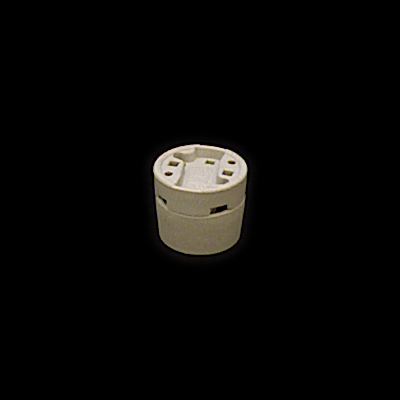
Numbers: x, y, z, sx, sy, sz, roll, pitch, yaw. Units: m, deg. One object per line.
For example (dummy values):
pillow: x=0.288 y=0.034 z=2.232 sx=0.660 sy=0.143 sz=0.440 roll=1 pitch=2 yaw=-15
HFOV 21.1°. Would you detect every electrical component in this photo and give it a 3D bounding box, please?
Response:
electrical component: x=0.000 y=0.000 z=0.637 sx=0.055 sy=0.047 sz=0.055 roll=1 pitch=31 yaw=0
